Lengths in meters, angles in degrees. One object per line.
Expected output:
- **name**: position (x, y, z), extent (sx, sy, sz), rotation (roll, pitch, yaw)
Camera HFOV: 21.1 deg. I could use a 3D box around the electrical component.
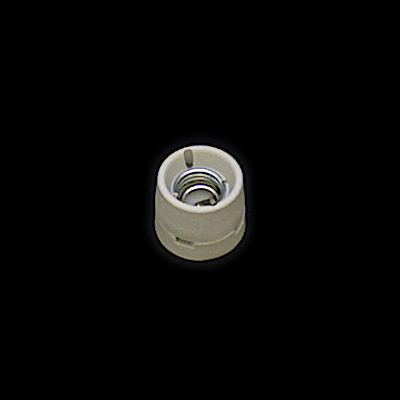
- **electrical component**: position (0.000, 0.000, 0.633), extent (0.055, 0.055, 0.047), rotation (0, -36, 0)
